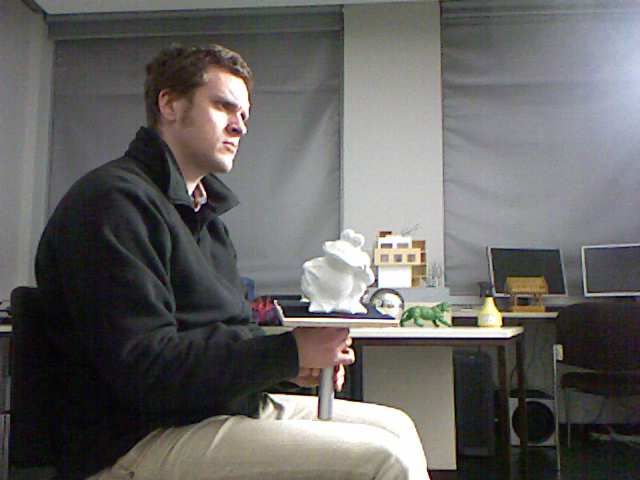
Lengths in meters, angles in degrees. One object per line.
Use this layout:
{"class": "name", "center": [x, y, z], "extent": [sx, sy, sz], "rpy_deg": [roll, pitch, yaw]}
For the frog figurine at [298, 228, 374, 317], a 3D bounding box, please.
{"class": "frog figurine", "center": [0.030, 0.055, 0.945], "extent": [0.137, 0.159, 0.123], "rpy_deg": [4, 4, 10]}
